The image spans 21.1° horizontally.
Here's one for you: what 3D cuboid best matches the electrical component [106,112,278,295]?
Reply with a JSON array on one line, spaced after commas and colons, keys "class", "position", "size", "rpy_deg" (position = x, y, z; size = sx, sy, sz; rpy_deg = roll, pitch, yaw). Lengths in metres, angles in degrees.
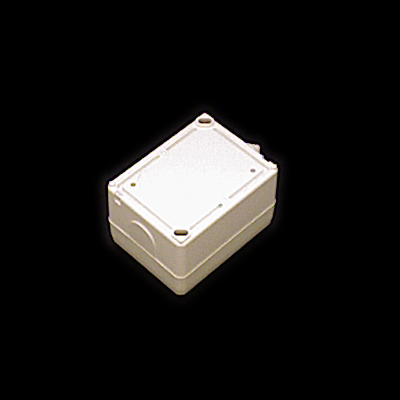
[{"class": "electrical component", "position": [0.000, 0.000, 0.628], "size": [0.061, 0.061, 0.096], "rpy_deg": [38, 60, 25]}]
